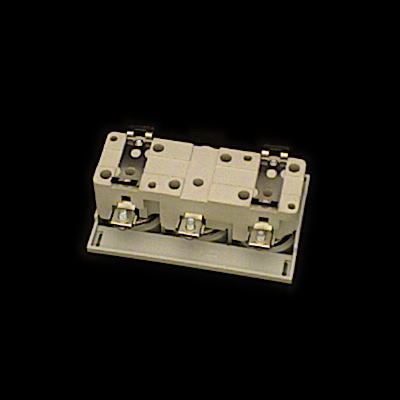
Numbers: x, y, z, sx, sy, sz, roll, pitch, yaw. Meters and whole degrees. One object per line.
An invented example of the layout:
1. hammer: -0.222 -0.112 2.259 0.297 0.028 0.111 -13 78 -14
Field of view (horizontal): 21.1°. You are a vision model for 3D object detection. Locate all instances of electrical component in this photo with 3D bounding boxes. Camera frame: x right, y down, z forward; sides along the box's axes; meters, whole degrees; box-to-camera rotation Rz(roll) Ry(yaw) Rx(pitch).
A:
1. electrical component: 0.000 0.000 0.637 0.121 0.078 0.063 9 -37 6
